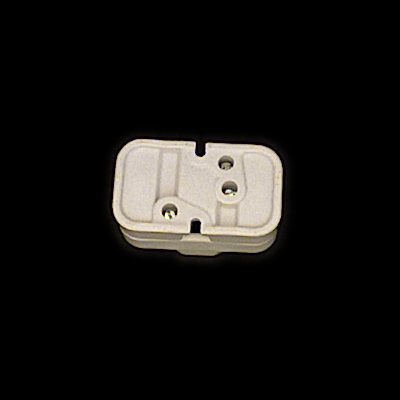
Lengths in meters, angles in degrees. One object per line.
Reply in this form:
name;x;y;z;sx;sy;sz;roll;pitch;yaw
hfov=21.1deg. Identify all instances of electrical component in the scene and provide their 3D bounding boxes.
electrical component;0.000;0.000;0.636;0.095;0.054;0.059;3;-16;1
